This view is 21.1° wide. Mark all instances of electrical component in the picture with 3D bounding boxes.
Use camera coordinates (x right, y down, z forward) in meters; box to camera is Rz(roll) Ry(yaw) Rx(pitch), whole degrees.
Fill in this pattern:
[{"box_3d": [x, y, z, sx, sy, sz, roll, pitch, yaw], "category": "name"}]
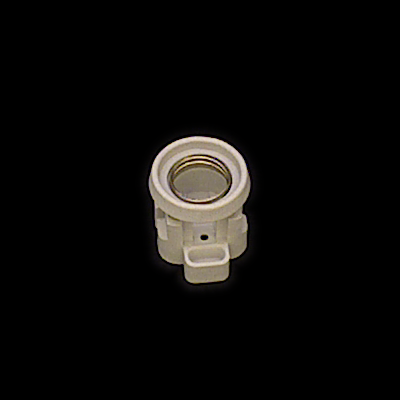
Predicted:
[{"box_3d": [0.000, 0.000, 0.630, 0.058, 0.078, 0.057, -6, -37, -5], "category": "electrical component"}]
